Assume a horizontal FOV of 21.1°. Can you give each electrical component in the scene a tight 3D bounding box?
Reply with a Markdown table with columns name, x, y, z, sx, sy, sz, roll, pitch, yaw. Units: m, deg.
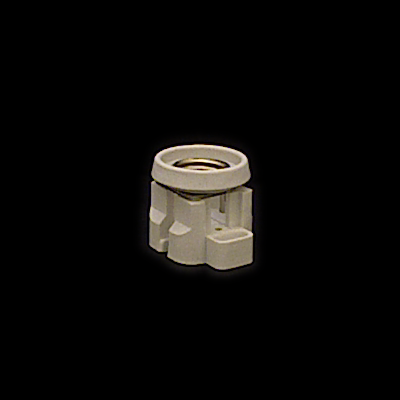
| name | x | y | z | sx | sy | sz | roll | pitch | yaw |
| --- | --- | --- | --- | --- | --- | --- | --- | --- | --- |
| electrical component | 0.000 | 0.000 | 0.640 | 0.058 | 0.057 | 0.077 | -13 | 25 | -32 |
